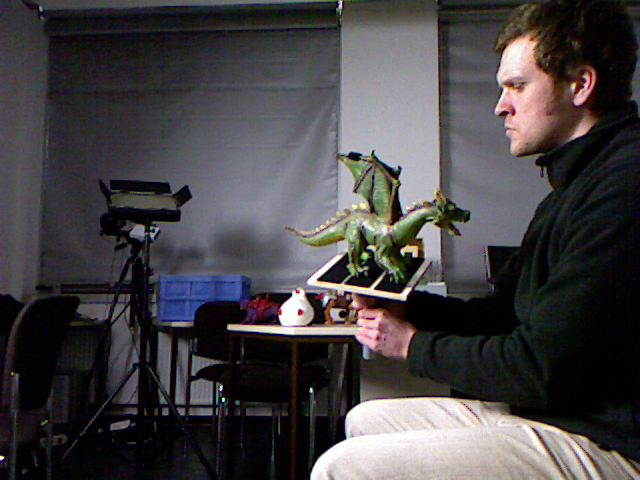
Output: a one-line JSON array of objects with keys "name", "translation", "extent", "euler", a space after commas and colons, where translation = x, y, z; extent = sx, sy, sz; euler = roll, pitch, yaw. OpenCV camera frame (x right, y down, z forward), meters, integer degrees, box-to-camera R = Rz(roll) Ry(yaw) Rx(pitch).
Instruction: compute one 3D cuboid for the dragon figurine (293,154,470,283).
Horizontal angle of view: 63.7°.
[{"name": "dragon figurine", "translation": [0.093, -0.057, 1.032], "extent": [0.413, 0.239, 0.124], "euler": [14, 28, 33]}]
